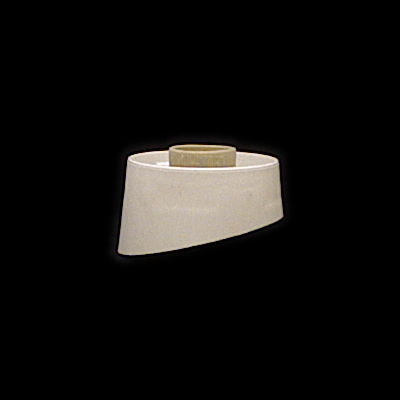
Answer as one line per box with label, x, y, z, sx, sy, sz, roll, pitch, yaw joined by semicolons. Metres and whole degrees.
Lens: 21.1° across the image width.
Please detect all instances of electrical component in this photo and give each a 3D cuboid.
electrical component;0.000;0.000;0.644;0.099;0.064;0.098;1;10;0
